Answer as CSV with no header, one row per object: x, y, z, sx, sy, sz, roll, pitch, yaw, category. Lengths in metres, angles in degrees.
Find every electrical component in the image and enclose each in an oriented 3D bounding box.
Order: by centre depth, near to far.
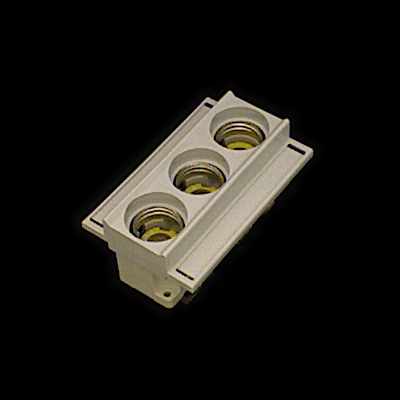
0.000,0.000,0.639,0.078,0.121,0.063,30,-31,22,electrical component
